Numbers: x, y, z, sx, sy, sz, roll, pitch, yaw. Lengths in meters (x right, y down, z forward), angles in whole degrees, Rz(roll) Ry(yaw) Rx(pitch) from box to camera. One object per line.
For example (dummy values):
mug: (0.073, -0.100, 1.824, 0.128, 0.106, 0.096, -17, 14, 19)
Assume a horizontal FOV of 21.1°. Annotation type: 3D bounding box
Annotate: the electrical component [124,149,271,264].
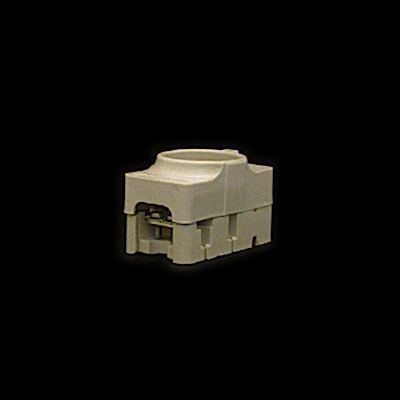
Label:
electrical component: (0.000, 0.000, 0.651, 0.049, 0.056, 0.090, 10, 14, 36)
